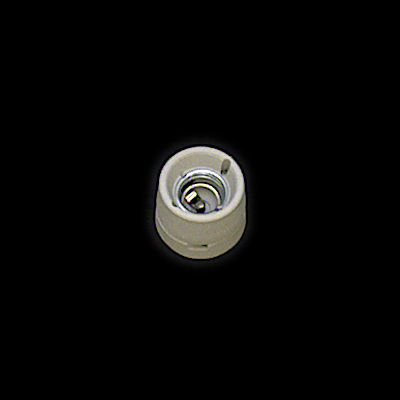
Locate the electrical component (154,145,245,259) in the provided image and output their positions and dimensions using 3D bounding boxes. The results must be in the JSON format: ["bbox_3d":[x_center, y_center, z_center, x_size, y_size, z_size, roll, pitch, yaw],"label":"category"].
[{"bbox_3d":[0.000,0.000,0.633,0.055,0.055,0.047,0,-28,-1],"label":"electrical component"}]
